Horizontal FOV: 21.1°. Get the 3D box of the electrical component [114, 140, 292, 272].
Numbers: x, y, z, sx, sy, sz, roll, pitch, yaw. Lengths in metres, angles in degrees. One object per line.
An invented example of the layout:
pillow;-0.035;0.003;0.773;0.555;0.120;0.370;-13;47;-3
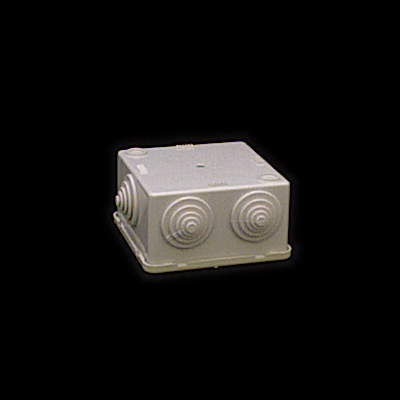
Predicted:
electrical component;0.000;0.000;0.641;0.100;0.049;0.098;-5;22;-16
